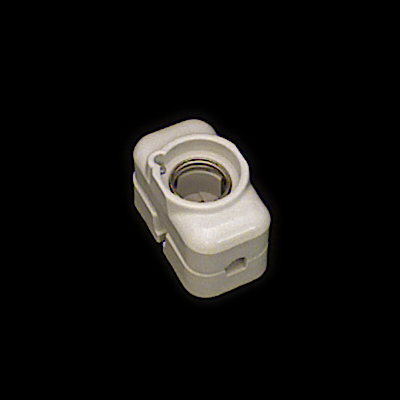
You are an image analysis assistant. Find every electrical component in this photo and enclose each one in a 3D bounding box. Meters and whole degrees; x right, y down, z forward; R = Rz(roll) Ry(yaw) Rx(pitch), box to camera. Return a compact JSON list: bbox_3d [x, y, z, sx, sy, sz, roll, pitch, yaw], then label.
[{"bbox_3d":[0.000,0.000,0.635,0.054,0.094,0.059,-23,-34,-17],"label":"electrical component"}]
